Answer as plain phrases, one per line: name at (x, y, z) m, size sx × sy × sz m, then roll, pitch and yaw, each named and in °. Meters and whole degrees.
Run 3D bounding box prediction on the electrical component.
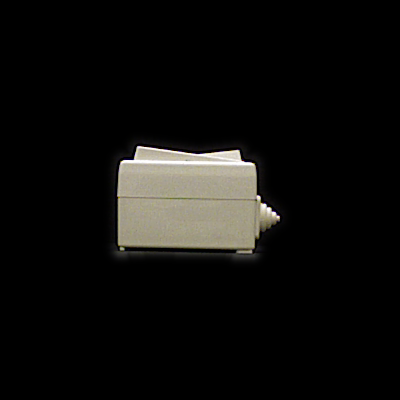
electrical component at (0.000, 0.000, 0.650) m, size 0.096 × 0.061 × 0.061 m, roll 1°, pitch 0°, yaw 2°
